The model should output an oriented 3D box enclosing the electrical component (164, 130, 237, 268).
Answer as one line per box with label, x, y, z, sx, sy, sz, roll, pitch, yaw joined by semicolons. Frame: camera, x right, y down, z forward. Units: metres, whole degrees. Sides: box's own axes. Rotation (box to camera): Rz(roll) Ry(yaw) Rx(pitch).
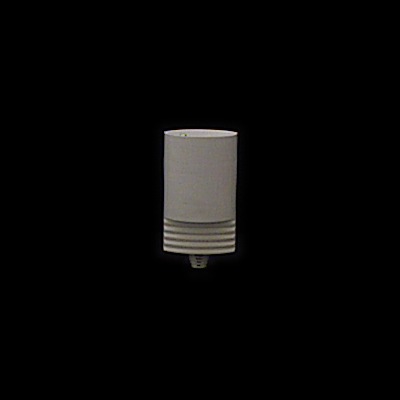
electrical component;0.000;0.000;0.639;0.043;0.081;0.043;1;10;0
